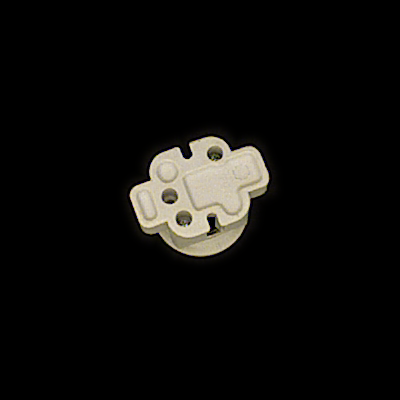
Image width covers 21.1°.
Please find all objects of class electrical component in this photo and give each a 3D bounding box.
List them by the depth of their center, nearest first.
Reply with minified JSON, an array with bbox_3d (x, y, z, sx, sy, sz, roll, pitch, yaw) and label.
[{"bbox_3d":[0.000,0.000,0.636,0.079,0.058,0.056,-21,-16,-7],"label":"electrical component"}]
